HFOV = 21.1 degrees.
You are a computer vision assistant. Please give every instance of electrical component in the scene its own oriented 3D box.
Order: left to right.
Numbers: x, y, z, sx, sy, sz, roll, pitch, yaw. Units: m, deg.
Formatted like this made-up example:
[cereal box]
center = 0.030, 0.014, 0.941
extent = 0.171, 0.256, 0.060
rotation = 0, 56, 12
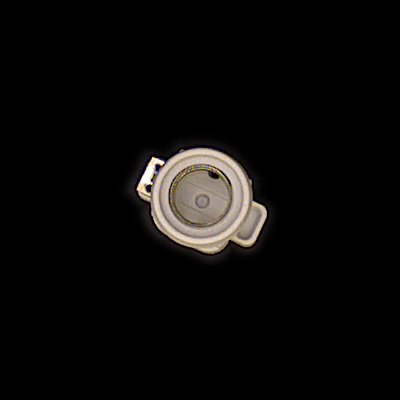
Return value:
[electrical component]
center = 0.000, 0.000, 0.630
extent = 0.078, 0.058, 0.056
rotation = 25, -5, 3
